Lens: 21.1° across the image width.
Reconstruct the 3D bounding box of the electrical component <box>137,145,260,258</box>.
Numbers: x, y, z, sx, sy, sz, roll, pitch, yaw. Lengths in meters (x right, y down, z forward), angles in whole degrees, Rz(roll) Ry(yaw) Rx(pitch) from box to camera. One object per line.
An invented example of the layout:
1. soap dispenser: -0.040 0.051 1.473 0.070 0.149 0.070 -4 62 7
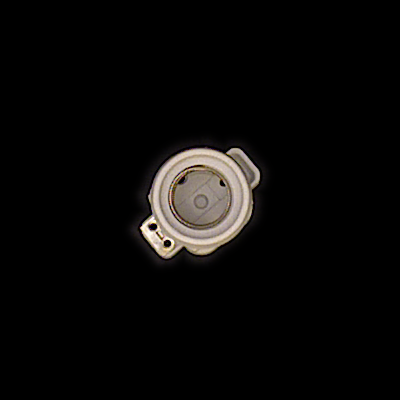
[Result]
1. electrical component: 0.000 0.000 0.629 0.079 0.058 0.056 -40 -5 -4
